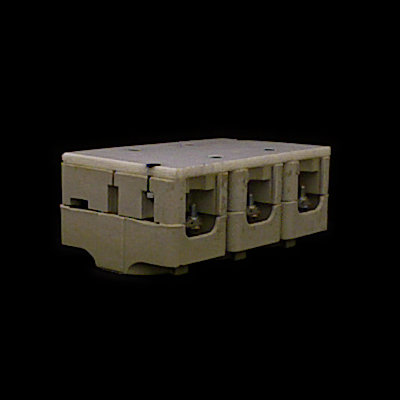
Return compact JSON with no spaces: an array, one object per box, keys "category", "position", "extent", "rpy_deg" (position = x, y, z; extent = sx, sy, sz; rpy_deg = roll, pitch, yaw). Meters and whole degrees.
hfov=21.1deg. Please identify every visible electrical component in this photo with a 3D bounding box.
[{"category":"electrical component","position":[0.000,0.000,0.647],"extent":[0.089,0.062,0.149],"rpy_deg":[9,13,39]}]
